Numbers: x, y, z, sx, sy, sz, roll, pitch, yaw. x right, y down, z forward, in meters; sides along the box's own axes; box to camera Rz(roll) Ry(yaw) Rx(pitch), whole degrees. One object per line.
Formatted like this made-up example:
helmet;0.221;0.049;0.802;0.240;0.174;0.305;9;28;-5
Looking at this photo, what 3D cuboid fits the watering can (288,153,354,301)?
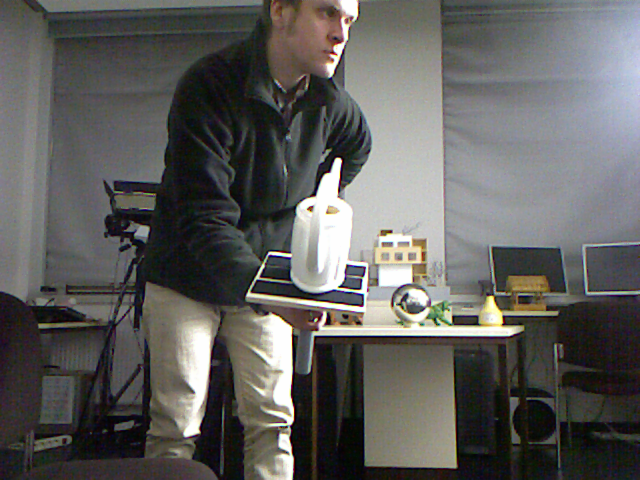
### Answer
watering can;0.011;-0.031;0.955;0.104;0.220;0.354;9;24;5
